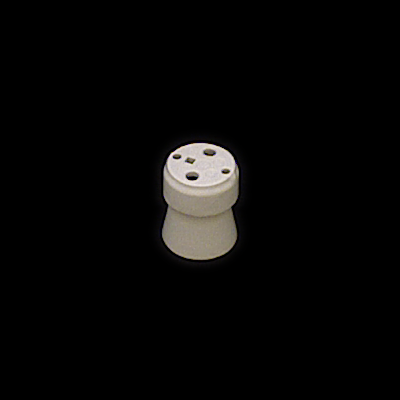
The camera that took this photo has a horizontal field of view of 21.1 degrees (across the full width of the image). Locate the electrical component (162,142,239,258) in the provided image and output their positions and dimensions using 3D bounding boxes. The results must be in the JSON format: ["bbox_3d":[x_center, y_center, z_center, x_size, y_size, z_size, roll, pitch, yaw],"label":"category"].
[{"bbox_3d":[0.000,0.000,0.633,0.045,0.055,0.044,1,42,-1],"label":"electrical component"}]
